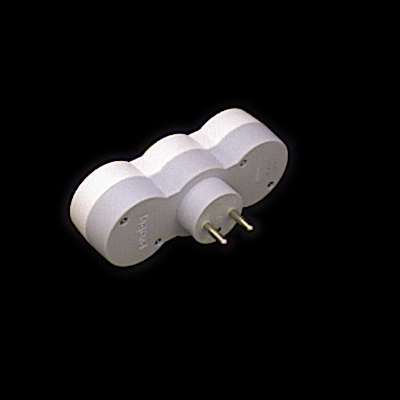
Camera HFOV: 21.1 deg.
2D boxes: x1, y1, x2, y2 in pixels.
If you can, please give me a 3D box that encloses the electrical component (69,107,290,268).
[{"bbox_3d":[0.000,0.000,0.635,0.138,0.052,0.073,-26,51,-28],"label":"electrical component"}]
